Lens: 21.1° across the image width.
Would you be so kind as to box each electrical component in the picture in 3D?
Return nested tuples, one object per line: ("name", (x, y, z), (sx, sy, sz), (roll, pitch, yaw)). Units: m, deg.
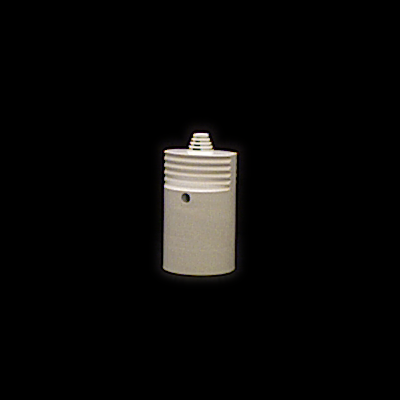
("electrical component", (0.000, 0.000, 0.643), (0.043, 0.081, 0.043), (1, 11, 0))
